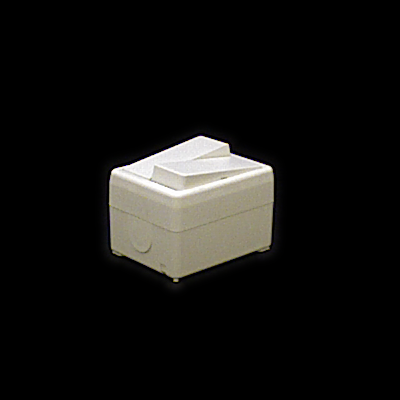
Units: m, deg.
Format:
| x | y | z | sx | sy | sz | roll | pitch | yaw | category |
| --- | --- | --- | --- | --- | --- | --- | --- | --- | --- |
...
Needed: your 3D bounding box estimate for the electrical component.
| x | y | z | sx | sy | sz | roll | pitch | yaw | category |
| --- | --- | --- | --- | --- | --- | --- | --- | --- | --- |
| 0.000 | 0.000 | 0.641 | 0.096 | 0.061 | 0.061 | -17 | 27 | -40 | electrical component |
